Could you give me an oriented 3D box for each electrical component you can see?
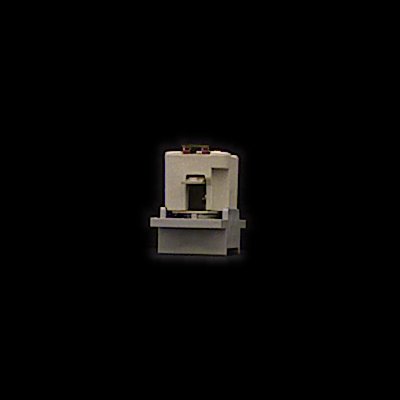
[{"bbox_3d":[0.000,0.000,0.650,0.042,0.064,0.081,1,1,11],"label":"electrical component"}]
